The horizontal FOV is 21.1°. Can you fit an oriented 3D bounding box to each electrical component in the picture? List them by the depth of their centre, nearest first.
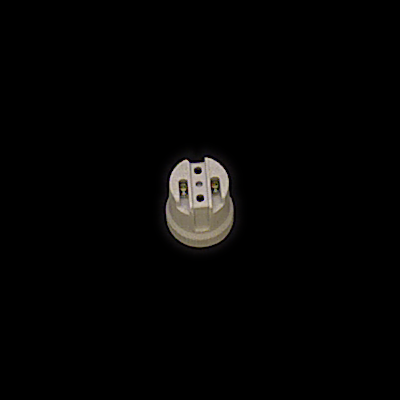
[{"bbox_3d":[0.000,0.000,0.632,0.040,0.040,0.046,0,-27,0],"label":"electrical component"}]
